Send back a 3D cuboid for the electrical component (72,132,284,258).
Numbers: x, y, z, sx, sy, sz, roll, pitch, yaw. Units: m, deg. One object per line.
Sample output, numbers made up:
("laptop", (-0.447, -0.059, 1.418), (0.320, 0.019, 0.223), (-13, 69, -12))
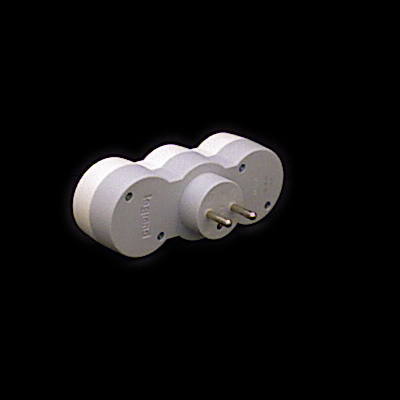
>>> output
("electrical component", (0.000, 0.000, 0.643), (0.138, 0.053, 0.073), (-15, 28, -38))
